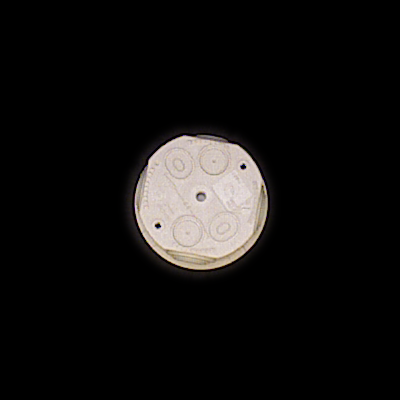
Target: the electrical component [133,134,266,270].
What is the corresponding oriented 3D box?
[{"bbox_3d":[0.000,0.000,0.633,0.080,0.080,0.050,0,-7,0],"label":"electrical component"}]
